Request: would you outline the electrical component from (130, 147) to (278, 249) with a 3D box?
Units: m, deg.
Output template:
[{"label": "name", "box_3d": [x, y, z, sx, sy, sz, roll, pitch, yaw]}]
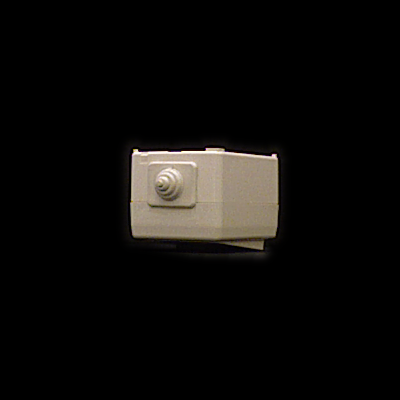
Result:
[{"label": "electrical component", "box_3d": [0.000, 0.000, 0.650, 0.061, 0.061, 0.096, 2, 1, 29]}]
